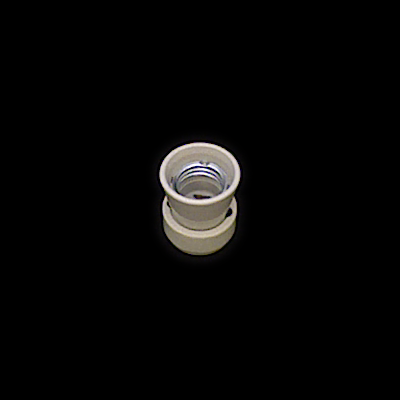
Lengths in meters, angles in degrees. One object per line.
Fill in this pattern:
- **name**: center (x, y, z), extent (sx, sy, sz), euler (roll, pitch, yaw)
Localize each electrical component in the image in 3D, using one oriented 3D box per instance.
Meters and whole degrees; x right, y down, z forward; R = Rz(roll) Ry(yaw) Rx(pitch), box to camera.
- **electrical component**: center (0.000, 0.000, 0.629), extent (0.045, 0.044, 0.055), euler (0, -37, 0)
